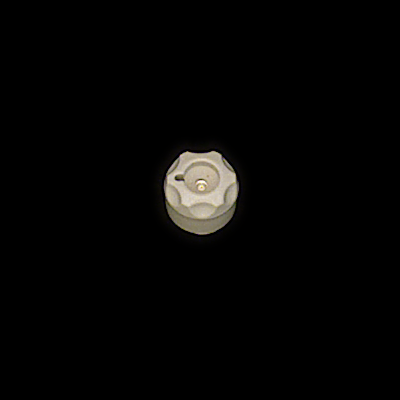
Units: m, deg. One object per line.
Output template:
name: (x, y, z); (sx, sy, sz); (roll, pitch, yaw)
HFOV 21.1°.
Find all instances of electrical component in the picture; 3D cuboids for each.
electrical component: (0.000, 0.000, 0.634); (0.043, 0.043, 0.062); (0, -27, 0)
